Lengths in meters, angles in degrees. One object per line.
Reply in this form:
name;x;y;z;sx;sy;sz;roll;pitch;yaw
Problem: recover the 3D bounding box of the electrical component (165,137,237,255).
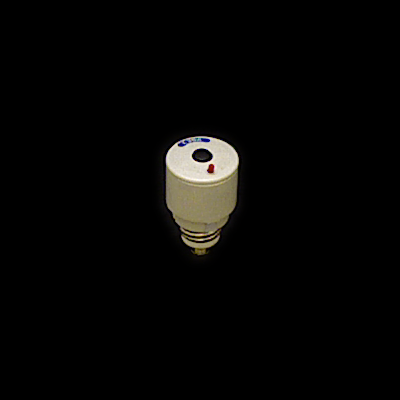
electrical component;0.000;0.000;0.622;0.040;0.079;0.039;1;42;0
